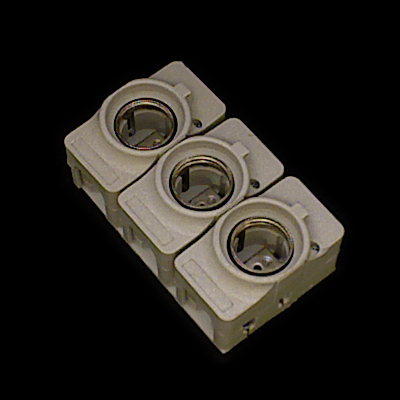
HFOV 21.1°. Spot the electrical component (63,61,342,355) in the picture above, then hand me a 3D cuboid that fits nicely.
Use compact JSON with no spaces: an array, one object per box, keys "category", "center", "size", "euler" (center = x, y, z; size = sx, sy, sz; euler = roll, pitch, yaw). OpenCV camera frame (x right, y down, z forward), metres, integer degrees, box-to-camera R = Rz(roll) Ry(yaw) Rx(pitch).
[{"category":"electrical component","center":[0.000,0.000,0.632],"size":[0.089,0.149,0.062],"euler":[-36,-21,-18]}]
